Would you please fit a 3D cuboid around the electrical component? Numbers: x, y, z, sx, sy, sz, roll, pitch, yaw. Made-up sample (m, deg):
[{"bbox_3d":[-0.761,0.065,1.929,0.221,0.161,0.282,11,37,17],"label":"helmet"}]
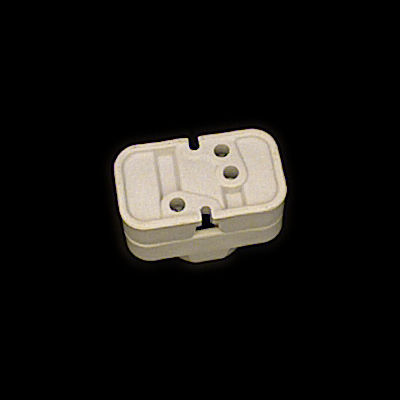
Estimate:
[{"bbox_3d":[0.000,0.000,0.636,0.095,0.053,0.059,-9,-26,-4],"label":"electrical component"}]
